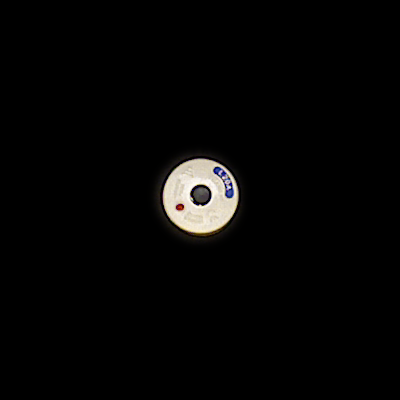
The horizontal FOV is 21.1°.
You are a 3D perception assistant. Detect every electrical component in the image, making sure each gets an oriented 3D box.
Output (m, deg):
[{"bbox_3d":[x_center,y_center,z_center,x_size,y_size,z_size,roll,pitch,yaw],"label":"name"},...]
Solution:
[{"bbox_3d":[0.000,0.000,0.617,0.040,0.040,0.078,0,-5,1],"label":"electrical component"}]
